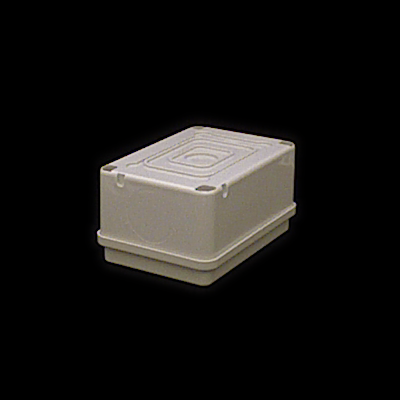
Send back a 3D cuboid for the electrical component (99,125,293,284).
[{"bbox_3d":[0.000,0.000,0.640,0.077,0.058,0.112,13,23,28],"label":"electrical component"}]
